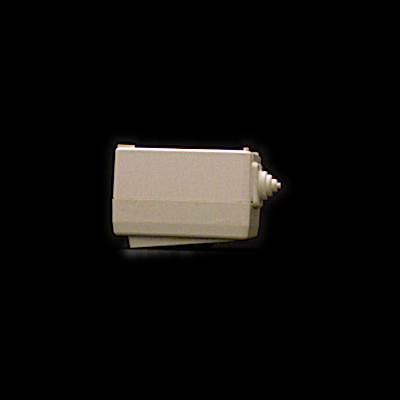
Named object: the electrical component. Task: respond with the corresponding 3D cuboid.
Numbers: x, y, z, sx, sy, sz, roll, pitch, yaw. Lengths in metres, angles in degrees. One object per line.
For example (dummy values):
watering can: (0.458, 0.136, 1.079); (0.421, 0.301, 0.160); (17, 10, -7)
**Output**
electrical component: (0.000, 0.000, 0.647); (0.096, 0.061, 0.061); (2, 1, 9)
